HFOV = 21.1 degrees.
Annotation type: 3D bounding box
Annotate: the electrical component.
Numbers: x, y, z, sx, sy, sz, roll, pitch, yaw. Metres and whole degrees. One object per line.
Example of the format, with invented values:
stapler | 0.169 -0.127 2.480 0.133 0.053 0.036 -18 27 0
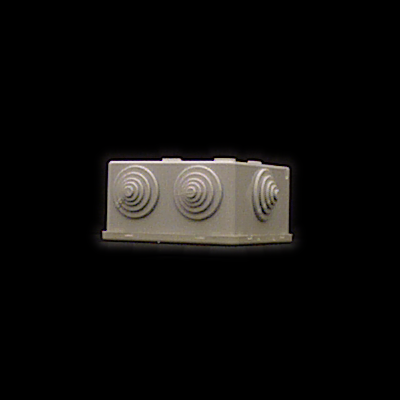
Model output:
electrical component | 0.000 0.000 0.650 0.099 0.048 0.100 1 0 27
